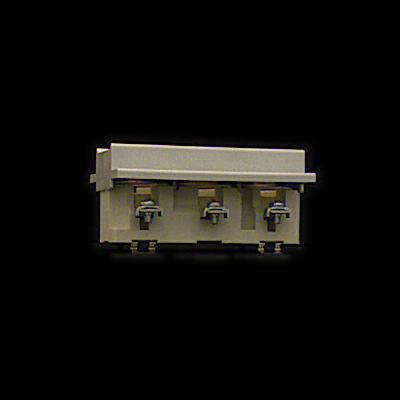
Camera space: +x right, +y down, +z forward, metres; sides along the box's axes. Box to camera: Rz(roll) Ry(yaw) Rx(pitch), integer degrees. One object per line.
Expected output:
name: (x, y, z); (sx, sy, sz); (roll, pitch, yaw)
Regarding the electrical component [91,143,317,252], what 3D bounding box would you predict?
electrical component: (0.000, 0.000, 0.663); (0.122, 0.063, 0.078); (1, -1, -17)
